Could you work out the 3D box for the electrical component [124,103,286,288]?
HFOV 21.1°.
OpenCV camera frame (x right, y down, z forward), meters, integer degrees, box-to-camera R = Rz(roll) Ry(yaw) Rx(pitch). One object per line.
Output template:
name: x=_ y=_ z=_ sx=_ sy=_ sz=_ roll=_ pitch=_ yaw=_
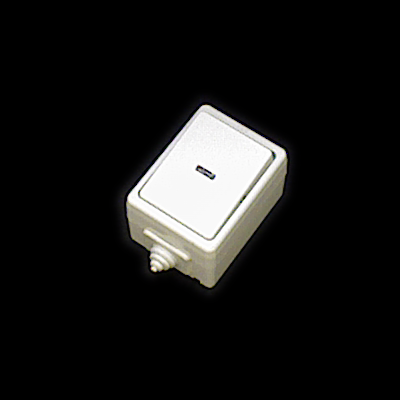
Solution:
electrical component: x=0.000 y=0.000 z=0.625 sx=0.061 sy=0.097 sz=0.060 roll=32 pitch=-23 yaw=15
